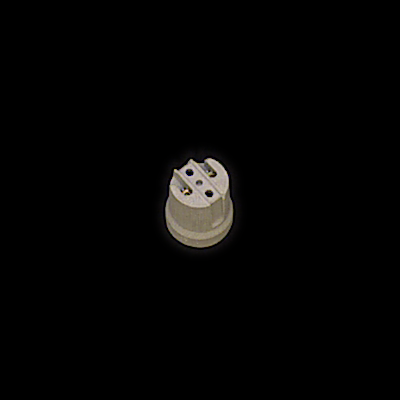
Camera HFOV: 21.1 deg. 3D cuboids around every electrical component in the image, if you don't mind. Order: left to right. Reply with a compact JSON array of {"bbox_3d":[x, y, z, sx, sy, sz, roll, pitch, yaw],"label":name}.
[{"bbox_3d":[0.000,0.000,0.634,0.040,0.040,0.046,0,-27,-1],"label":"electrical component"}]
